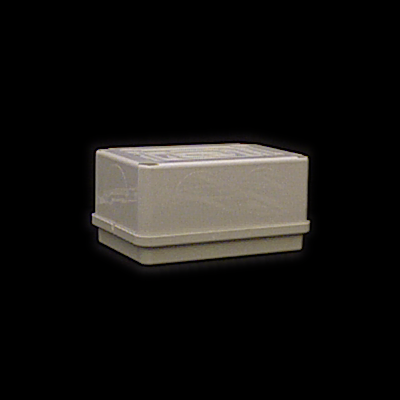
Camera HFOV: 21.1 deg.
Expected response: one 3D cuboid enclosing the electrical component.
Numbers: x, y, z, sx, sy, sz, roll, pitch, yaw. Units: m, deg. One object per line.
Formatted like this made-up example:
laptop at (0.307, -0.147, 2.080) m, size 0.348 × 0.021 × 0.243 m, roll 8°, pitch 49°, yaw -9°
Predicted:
electrical component at (0.000, 0.000, 0.644) m, size 0.113 × 0.057 × 0.077 m, roll -5°, pitch 12°, yaw -27°
